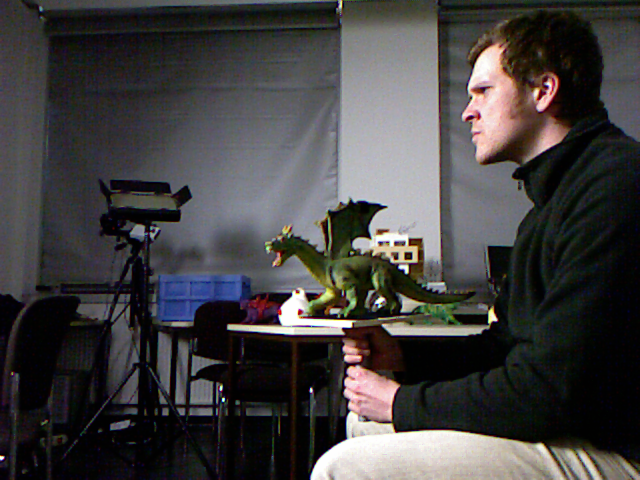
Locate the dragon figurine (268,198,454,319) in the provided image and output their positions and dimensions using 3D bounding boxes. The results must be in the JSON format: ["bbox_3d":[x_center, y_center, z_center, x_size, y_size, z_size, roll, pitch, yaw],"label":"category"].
[{"bbox_3d":[0.089,0.032,1.057,0.411,0.244,0.121,-3,-4,-23],"label":"dragon figurine"}]
